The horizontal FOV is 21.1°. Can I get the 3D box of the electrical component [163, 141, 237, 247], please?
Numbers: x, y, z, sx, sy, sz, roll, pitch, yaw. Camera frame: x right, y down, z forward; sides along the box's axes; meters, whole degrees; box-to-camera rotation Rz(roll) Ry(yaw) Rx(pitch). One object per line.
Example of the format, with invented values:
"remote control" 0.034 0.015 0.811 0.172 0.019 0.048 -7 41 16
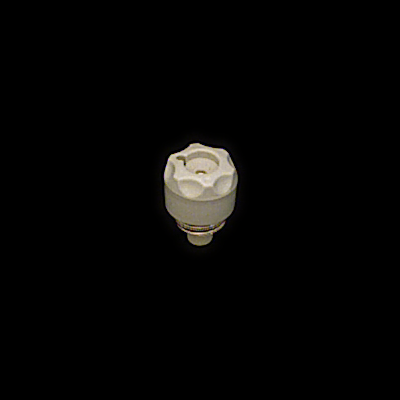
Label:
"electrical component" 0.000 0.000 0.638 0.043 0.062 0.043 1 42 -1
